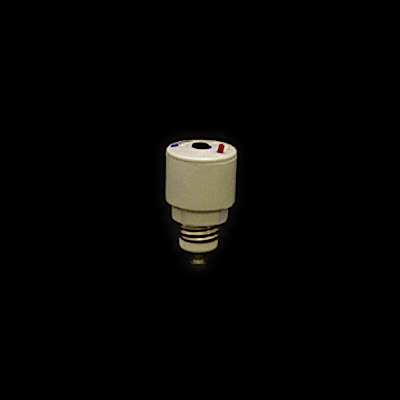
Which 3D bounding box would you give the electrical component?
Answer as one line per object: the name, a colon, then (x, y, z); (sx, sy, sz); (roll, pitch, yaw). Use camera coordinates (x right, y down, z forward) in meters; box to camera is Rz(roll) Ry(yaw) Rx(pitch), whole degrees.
electrical component: (0.000, 0.000, 0.633); (0.040, 0.079, 0.039); (1, 21, 0)
